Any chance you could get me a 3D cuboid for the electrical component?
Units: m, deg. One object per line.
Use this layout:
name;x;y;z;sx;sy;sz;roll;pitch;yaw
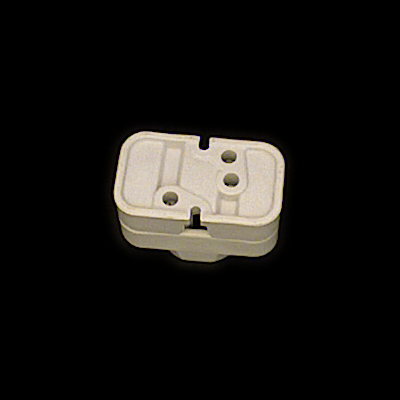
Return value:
electrical component;0.000;0.000;0.636;0.095;0.053;0.059;5;-27;3
